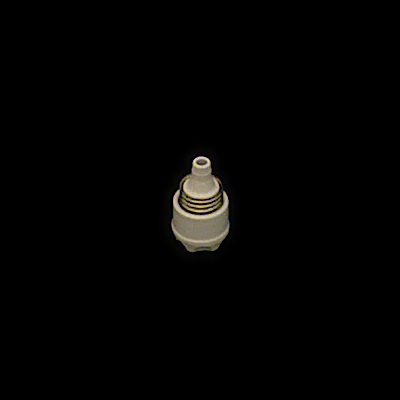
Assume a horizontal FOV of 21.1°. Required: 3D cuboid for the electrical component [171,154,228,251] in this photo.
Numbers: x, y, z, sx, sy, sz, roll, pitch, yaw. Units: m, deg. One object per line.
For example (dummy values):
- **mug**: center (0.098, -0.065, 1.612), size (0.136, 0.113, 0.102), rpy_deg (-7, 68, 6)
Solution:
- **electrical component**: center (0.000, 0.000, 0.642), size (0.035, 0.062, 0.035), rpy_deg (1, 42, -1)
